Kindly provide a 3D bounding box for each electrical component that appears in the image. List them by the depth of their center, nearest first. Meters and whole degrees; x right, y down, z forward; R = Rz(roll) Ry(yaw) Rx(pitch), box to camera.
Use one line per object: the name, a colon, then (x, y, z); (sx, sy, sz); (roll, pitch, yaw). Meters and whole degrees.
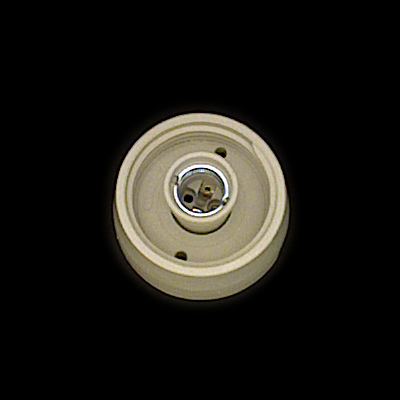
electrical component: (0.000, 0.000, 0.634); (0.108, 0.108, 0.060); (0, -16, 0)
